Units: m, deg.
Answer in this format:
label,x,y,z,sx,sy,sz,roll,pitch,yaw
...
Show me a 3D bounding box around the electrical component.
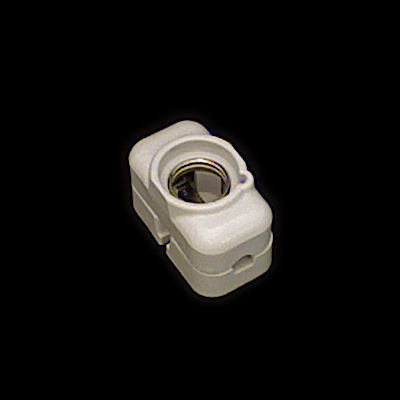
label,x,y,z,sx,sy,sz,roll,pitch,yaw
electrical component,0.000,0.000,0.636,0.054,0.094,0.059,-27,-32,-19
